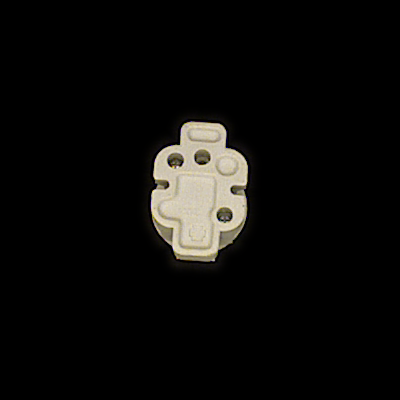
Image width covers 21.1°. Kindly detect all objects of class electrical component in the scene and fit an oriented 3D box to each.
[{"bbox_3d":[0.000,0.000,0.635,0.058,0.079,0.056,3,-15,0],"label":"electrical component"}]
